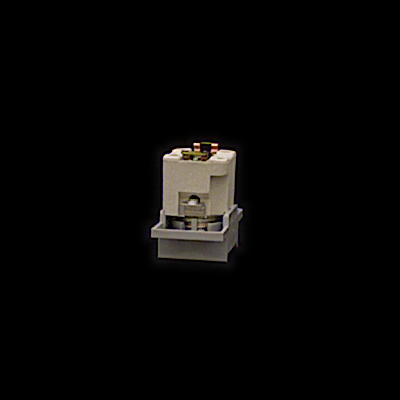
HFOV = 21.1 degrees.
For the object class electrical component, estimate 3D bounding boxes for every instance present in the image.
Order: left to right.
[{"bbox_3d":[0.000,0.000,0.643,0.042,0.064,0.080,3,10,9],"label":"electrical component"}]
